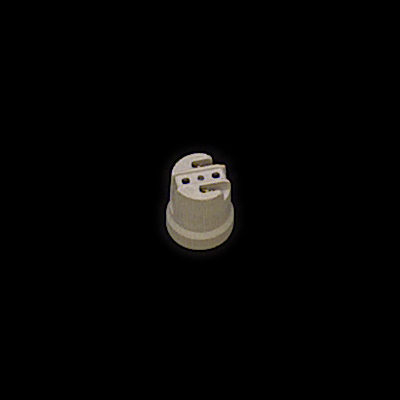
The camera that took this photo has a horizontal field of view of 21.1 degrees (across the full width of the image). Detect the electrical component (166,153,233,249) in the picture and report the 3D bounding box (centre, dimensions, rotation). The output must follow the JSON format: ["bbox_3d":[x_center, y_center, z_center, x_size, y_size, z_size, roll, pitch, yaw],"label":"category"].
[{"bbox_3d":[0.000,0.000,0.633,0.040,0.040,0.046,0,-37,0],"label":"electrical component"}]
